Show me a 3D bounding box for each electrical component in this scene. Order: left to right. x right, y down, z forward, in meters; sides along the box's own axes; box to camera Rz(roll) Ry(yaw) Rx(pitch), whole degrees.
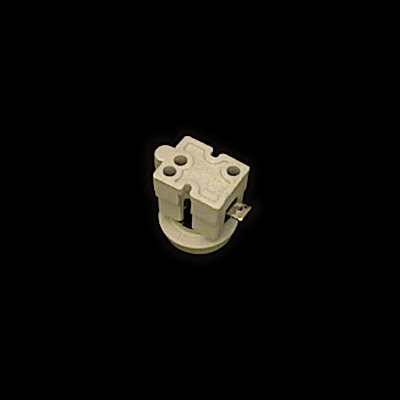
[{"bbox_3d":[0.000,0.000,0.638,0.066,0.048,0.055,27,-34,17],"label":"electrical component"}]
